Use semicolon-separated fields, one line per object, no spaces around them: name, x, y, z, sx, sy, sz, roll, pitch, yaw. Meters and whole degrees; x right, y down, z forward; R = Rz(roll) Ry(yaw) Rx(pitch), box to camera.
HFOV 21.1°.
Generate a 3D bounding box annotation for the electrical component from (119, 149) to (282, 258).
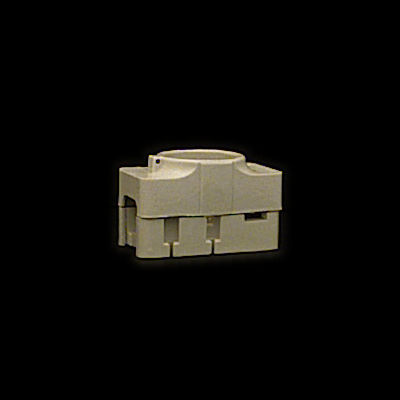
electrical component;0.000;0.000;0.652;0.090;0.056;0.049;-3;12;-23
